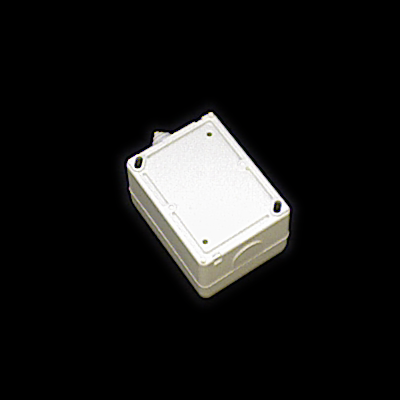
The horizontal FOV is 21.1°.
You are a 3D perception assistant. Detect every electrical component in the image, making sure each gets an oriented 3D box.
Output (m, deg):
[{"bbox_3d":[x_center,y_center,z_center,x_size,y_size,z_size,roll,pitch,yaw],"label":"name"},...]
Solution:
[{"bbox_3d":[0.000,0.000,0.628,0.062,0.096,0.061,-31,-23,-14],"label":"electrical component"}]
